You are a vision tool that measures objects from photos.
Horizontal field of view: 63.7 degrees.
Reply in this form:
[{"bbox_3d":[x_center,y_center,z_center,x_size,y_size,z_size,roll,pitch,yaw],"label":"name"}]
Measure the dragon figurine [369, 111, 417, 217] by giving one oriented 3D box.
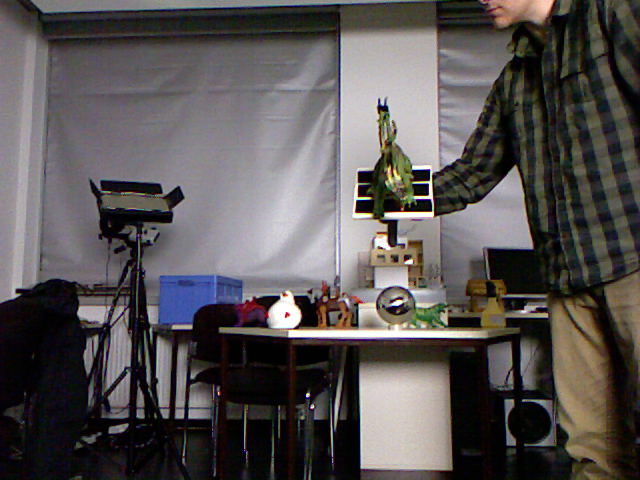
[{"bbox_3d":[0.178,-0.218,1.289,0.122,0.421,0.237,-7,-37,3],"label":"dragon figurine"}]
